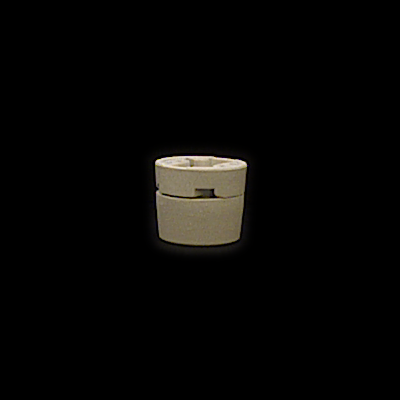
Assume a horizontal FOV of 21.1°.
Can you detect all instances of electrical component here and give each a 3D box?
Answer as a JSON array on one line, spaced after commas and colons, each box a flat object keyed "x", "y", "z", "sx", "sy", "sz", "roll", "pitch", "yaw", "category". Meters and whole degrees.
[{"x": 0.000, "y": 0.000, "z": 0.647, "sx": 0.055, "sy": 0.047, "sz": 0.055, "roll": 1, "pitch": 11, "yaw": 0, "category": "electrical component"}]
